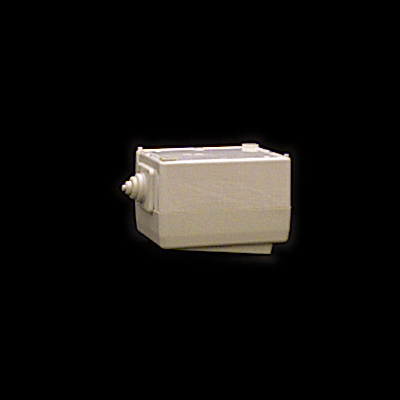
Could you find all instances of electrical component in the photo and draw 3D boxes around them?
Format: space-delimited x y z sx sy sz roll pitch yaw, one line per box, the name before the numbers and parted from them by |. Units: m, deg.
electrical component | 0.000 0.000 0.646 0.096 0.061 0.061 -3 11 -18
